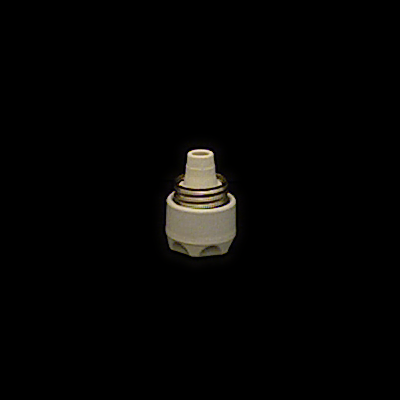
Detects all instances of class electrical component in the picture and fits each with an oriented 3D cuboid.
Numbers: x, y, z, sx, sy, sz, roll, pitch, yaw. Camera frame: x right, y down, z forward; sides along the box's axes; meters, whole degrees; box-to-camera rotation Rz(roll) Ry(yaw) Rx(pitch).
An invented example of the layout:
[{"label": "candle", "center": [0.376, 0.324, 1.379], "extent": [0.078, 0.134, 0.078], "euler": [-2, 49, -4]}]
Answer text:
[{"label": "electrical component", "center": [0.000, 0.000, 0.646], "extent": [0.043, 0.063, 0.043], "euler": [0, 21, 0]}]
